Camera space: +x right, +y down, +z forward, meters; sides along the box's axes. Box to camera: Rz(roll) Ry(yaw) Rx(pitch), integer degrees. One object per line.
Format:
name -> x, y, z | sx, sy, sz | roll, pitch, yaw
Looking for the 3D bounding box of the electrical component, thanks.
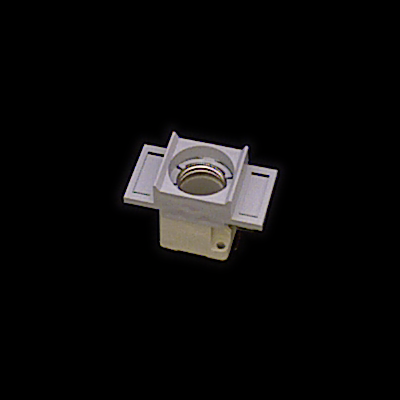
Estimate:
electrical component -> 0.000, 0.000, 0.626 | 0.081, 0.042, 0.064 | 12, -38, 9
